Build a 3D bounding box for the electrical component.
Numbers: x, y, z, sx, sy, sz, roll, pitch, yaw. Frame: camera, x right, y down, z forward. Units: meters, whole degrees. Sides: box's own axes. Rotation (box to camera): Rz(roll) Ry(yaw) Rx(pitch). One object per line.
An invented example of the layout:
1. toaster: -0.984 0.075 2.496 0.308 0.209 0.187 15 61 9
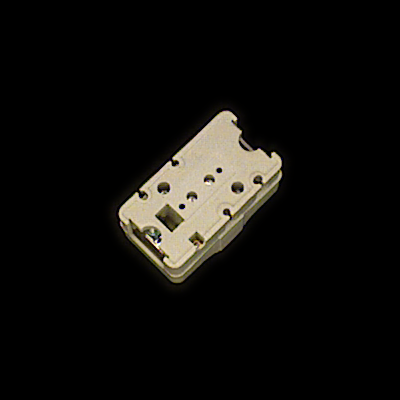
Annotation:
1. electrical component: 0.000 0.000 0.636 0.050 0.090 0.055 44 -11 11
